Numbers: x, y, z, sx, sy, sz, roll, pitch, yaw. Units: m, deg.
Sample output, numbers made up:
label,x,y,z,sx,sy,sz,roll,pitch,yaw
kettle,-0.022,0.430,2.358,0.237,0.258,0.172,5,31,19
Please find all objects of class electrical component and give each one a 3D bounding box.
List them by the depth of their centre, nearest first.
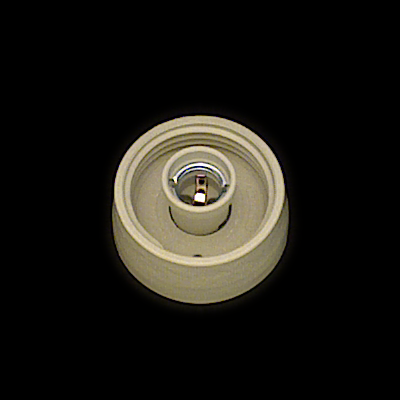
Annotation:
label,x,y,z,sx,sy,sz,roll,pitch,yaw
electrical component,0.000,0.000,0.633,0.108,0.108,0.060,0,-26,0
